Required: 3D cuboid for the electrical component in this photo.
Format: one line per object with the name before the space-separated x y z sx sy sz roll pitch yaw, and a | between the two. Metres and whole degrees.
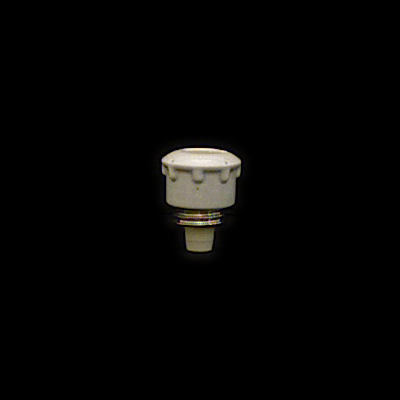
electrical component | 0.000 0.000 0.654 0.048 0.062 0.048 1 11 0
